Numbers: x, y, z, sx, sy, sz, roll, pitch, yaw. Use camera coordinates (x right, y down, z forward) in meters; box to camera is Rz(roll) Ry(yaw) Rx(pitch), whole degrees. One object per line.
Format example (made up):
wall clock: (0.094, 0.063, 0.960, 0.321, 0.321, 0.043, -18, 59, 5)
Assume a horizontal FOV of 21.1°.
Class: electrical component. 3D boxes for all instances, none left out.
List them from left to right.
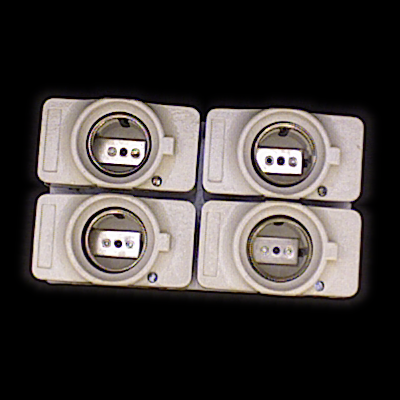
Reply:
electrical component: (0.000, 0.000, 0.627, 0.186, 0.106, 0.060, 3, -7, 0)
